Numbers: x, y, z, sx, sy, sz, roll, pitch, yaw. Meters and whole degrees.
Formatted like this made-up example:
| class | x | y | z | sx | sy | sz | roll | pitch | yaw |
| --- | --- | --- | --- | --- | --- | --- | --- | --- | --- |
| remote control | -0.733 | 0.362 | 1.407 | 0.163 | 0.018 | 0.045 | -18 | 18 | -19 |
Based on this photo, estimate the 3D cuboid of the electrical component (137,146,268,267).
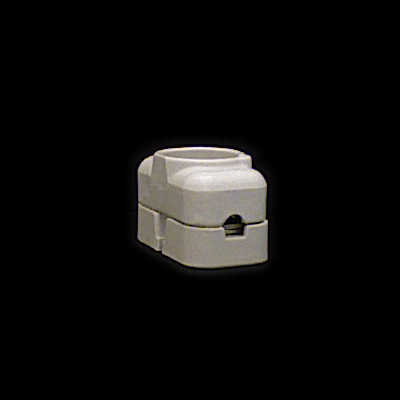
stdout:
| class | x | y | z | sx | sy | sz | roll | pitch | yaw |
| --- | --- | --- | --- | --- | --- | --- | --- | --- | --- |
| electrical component | 0.000 | 0.000 | 0.651 | 0.054 | 0.060 | 0.094 | -5 | 13 | -25 |
